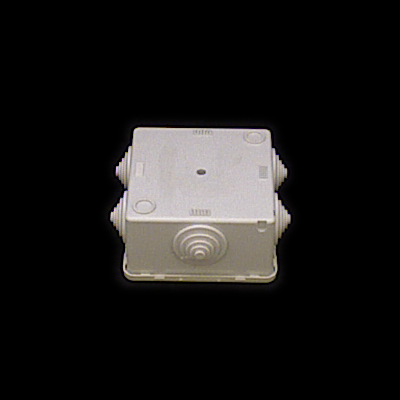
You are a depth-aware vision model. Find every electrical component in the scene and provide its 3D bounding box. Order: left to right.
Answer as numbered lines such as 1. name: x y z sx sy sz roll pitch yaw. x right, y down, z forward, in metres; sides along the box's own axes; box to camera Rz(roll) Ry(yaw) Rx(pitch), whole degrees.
1. electrical component: 0.000 0.000 0.633 0.100 0.049 0.099 1 42 0
